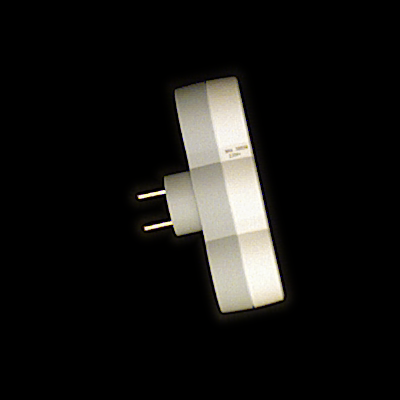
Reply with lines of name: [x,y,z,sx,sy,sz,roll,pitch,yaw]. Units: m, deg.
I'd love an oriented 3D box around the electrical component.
electrical component: [0.000,0.000,0.639,0.074,0.138,0.052,-12,-6,1]
